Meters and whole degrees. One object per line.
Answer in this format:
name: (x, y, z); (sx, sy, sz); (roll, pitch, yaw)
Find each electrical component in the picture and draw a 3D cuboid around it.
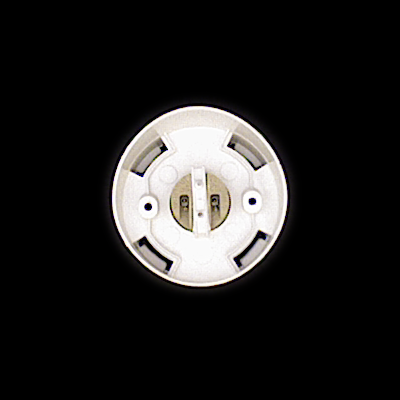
electrical component: (0.000, 0.000, 0.624); (0.099, 0.099, 0.064); (0, -8, 0)
